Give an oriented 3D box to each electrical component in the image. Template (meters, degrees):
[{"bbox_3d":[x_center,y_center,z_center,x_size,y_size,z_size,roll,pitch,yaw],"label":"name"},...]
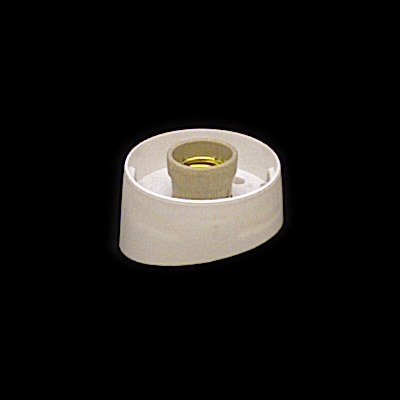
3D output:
[{"bbox_3d":[0.000,0.000,0.634,0.099,0.065,0.097,0,31,0],"label":"electrical component"}]
